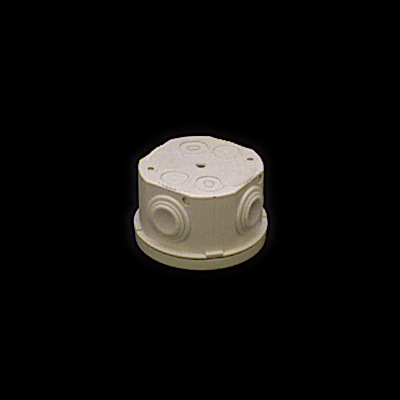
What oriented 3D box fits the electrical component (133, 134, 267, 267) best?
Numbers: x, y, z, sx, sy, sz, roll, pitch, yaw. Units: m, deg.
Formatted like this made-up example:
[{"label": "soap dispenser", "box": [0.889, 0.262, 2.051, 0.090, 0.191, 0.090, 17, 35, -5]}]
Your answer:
[{"label": "electrical component", "box": [0.000, 0.000, 0.637, 0.080, 0.051, 0.079, 0, 32, 0]}]
